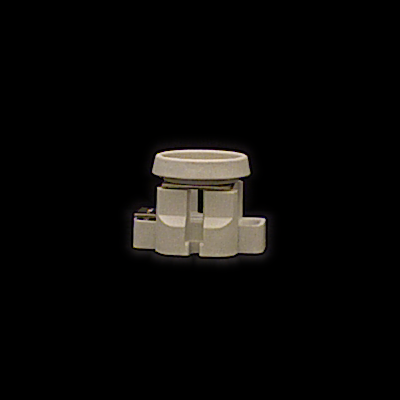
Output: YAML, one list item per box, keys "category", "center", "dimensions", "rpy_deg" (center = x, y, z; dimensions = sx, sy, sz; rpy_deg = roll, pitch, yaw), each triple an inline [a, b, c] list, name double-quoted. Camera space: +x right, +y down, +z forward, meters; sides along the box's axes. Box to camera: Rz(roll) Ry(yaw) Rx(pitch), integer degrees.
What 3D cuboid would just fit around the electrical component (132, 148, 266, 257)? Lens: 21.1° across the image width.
- category: "electrical component"
  center: [0.000, 0.000, 0.643]
  dimensions: [0.078, 0.057, 0.057]
  rpy_deg: [2, 11, 7]
